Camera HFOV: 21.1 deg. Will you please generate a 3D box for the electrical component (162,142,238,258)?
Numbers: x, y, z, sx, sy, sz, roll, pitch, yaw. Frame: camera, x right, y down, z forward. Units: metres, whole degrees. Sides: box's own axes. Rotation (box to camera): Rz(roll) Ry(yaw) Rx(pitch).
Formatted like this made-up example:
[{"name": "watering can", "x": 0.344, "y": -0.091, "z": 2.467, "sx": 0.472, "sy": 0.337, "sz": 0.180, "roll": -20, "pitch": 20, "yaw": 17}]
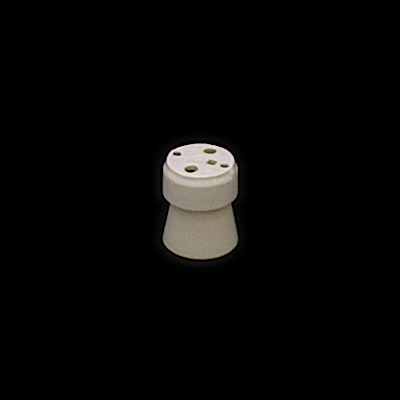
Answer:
[{"name": "electrical component", "x": 0.000, "y": 0.000, "z": 0.634, "sx": 0.045, "sy": 0.056, "sz": 0.044, "roll": 0, "pitch": 32, "yaw": 0}]
